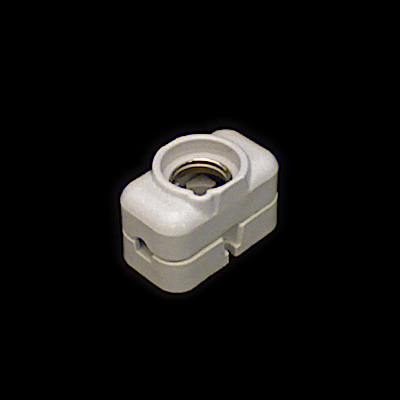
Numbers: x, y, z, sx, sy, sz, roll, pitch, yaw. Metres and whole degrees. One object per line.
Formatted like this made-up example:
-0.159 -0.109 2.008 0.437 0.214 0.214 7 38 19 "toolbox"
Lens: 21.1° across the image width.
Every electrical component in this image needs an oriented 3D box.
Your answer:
0.000 0.000 0.637 0.053 0.060 0.095 34 52 31 "electrical component"
